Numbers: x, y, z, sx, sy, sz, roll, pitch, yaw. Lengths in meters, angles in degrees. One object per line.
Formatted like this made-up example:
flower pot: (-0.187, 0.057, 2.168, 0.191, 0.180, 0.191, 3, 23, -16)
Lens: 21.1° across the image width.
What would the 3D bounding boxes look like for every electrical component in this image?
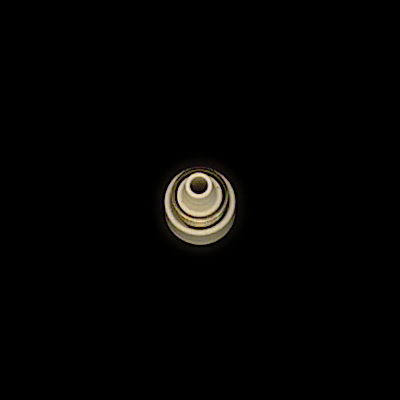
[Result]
electrical component: (0.000, 0.000, 0.634, 0.043, 0.043, 0.061, 0, -17, 0)
